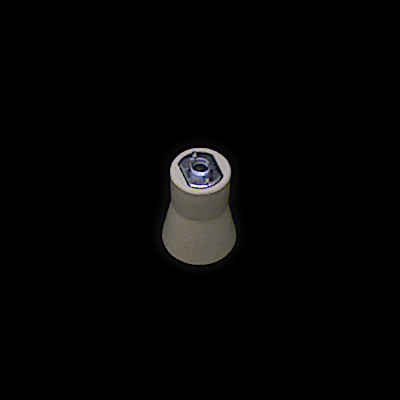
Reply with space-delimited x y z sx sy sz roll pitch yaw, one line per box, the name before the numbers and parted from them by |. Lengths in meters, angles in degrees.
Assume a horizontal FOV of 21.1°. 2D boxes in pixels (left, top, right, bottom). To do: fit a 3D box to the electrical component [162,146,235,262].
electrical component | 0.000 0.000 0.627 0.044 0.044 0.065 0 -38 -2
